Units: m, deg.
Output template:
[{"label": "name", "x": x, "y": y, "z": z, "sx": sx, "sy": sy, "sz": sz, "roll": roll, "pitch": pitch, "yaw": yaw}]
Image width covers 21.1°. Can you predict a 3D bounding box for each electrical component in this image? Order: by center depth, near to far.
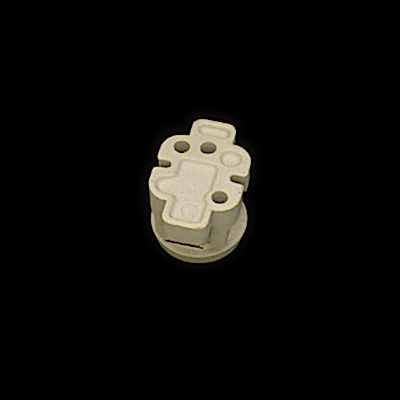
[{"label": "electrical component", "x": 0.000, "y": 0.000, "z": 0.636, "sx": 0.058, "sy": 0.078, "sz": 0.057, "roll": 11, "pitch": -35, "yaw": 7}]
